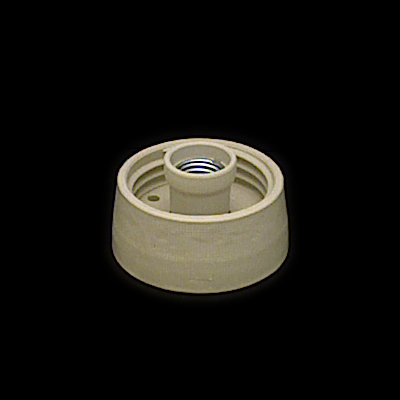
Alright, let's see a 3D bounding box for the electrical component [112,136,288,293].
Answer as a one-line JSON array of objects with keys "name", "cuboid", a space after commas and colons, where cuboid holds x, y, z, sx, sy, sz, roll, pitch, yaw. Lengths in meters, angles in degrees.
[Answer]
[{"name": "electrical component", "cuboid": [0.000, 0.000, 0.643, 0.108, 0.061, 0.106, 1, 32, 0]}]
